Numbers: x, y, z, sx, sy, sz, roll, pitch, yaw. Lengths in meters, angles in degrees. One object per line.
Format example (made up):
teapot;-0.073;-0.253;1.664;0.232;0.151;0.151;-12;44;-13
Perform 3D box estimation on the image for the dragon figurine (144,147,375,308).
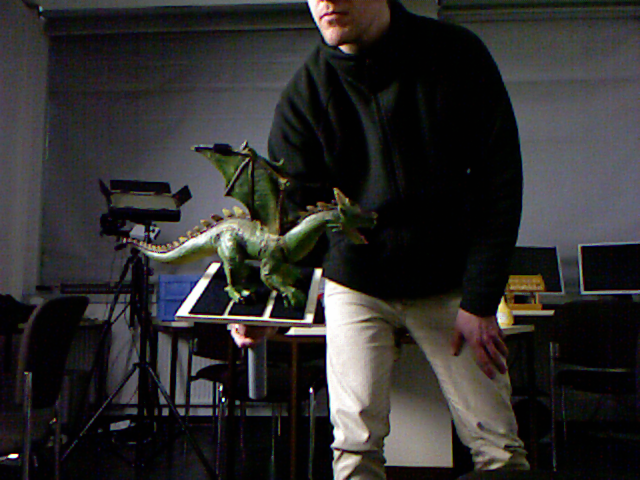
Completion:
dragon figurine;-0.121;-0.033;0.802;0.411;0.238;0.124;9;28;16
